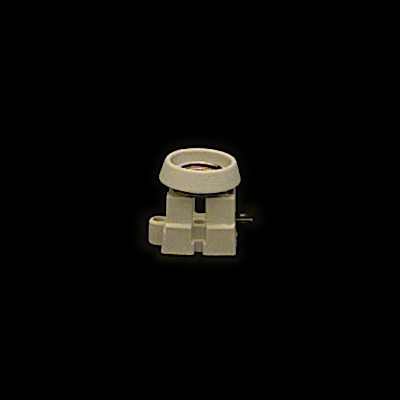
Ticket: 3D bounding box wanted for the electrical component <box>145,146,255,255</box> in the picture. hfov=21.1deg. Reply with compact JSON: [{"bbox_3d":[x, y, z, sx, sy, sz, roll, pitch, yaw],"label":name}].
[{"bbox_3d":[0.000,0.000,0.648,0.066,0.056,0.048,1,24,0],"label":"electrical component"}]
